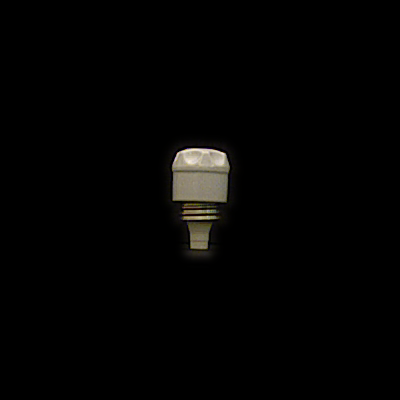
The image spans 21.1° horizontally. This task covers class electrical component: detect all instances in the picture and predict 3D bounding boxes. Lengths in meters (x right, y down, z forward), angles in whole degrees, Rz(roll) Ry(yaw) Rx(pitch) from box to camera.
[{"bbox_3d":[0.000,0.000,0.659,0.035,0.061,0.035,1,1,0],"label":"electrical component"}]
